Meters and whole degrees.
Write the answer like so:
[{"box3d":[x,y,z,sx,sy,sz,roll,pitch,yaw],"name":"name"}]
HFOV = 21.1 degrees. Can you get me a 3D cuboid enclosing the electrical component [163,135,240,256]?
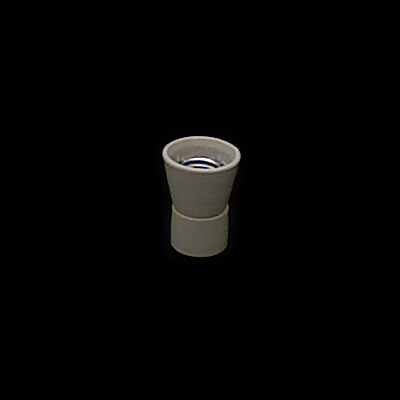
[{"box3d":[0.000,0.000,0.635,0.044,0.066,0.044,1,30,-1],"name":"electrical component"}]
